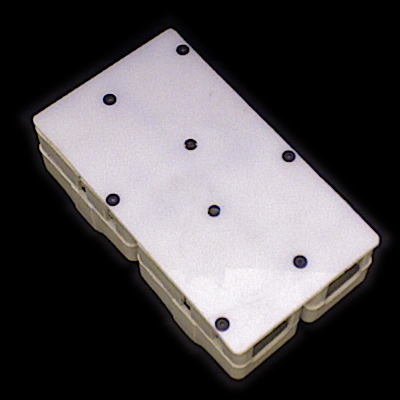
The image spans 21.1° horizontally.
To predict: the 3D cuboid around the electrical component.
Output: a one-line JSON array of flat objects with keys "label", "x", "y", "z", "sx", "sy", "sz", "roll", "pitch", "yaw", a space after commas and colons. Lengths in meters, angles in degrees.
[{"label": "electrical component", "x": 0.000, "y": 0.000, "z": 0.625, "sx": 0.106, "sy": 0.186, "sz": 0.060, "roll": -36, "pitch": -21, "yaw": -17}]
